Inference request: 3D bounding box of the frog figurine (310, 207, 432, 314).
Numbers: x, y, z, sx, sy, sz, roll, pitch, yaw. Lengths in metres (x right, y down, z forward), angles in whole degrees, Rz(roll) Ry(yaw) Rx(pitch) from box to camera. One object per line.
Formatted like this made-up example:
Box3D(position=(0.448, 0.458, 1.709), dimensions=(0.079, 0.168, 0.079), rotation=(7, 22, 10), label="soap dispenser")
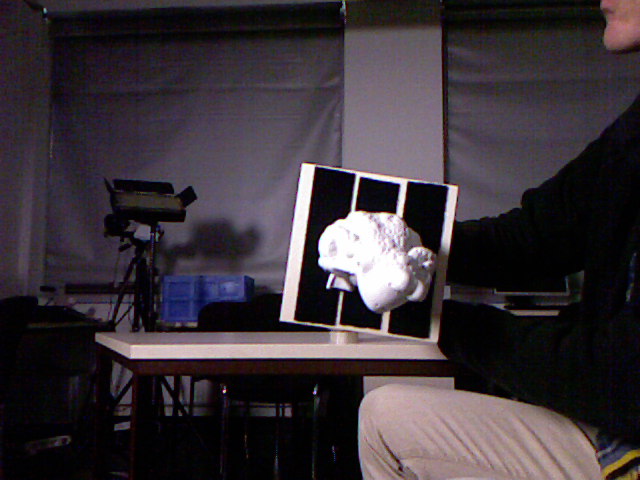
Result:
Box3D(position=(0.062, 0.018, 0.581), dimensions=(0.138, 0.124, 0.159), rotation=(18, -6, -6), label="frog figurine")
